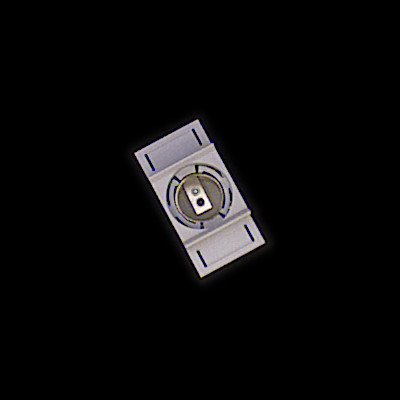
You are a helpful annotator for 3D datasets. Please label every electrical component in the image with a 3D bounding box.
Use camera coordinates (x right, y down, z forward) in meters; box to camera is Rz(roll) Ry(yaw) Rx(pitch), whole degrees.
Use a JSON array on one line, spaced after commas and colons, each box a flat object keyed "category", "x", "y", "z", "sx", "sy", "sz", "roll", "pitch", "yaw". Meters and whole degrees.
[{"category": "electrical component", "x": 0.000, "y": 0.000, "z": 0.625, "sx": 0.042, "sy": 0.081, "sz": 0.063, "roll": -28, "pitch": -5, "yaw": -2}]
